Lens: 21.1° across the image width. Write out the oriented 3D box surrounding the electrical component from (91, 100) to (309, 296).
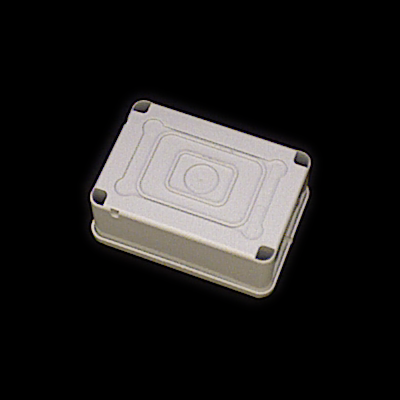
[{"bbox_3d":[0.000,0.000,0.628,0.113,0.078,0.057,19,-26,9],"label":"electrical component"}]
